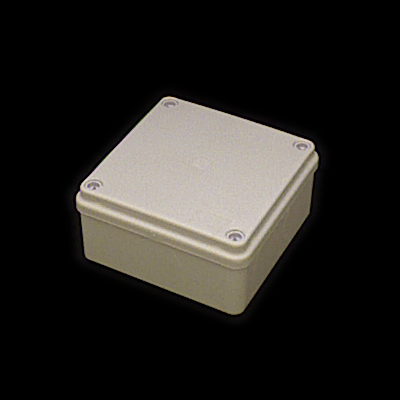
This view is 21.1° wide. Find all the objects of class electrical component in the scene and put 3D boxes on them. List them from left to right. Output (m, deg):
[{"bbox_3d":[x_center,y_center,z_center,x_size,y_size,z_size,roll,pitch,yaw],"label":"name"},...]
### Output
[{"bbox_3d":[0.000,0.000,0.634,0.108,0.057,0.108,20,45,20],"label":"electrical component"}]
